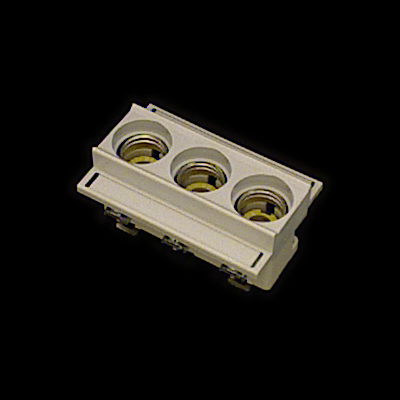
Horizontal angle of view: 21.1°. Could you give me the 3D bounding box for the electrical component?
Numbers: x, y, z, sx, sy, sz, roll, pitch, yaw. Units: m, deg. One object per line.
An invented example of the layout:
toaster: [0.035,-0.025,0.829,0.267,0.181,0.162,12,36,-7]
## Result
electrical component: [0.000,0.000,0.640,0.121,0.078,0.063,26,-34,18]
